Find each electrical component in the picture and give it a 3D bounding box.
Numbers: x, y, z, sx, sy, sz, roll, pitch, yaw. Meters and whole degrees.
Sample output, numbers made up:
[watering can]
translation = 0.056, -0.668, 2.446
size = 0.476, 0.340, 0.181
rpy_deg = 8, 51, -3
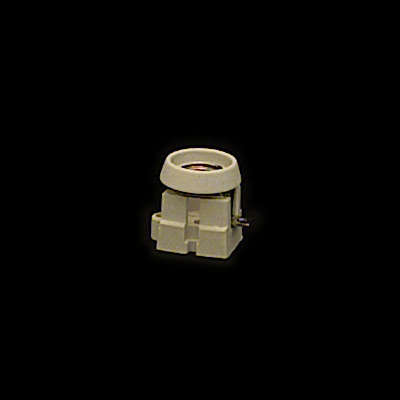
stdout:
[electrical component]
translation = 0.000, 0.000, 0.647
size = 0.066, 0.056, 0.048
rpy_deg = 7, 25, 14
